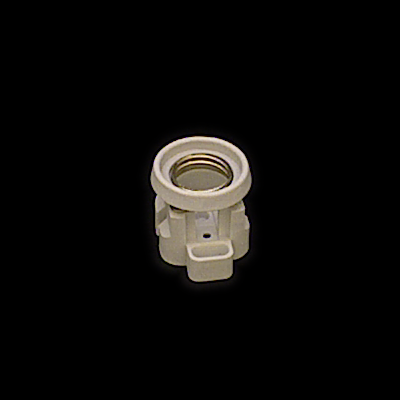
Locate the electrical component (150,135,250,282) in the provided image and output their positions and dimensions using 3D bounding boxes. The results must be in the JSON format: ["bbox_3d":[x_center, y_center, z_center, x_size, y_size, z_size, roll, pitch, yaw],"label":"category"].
[{"bbox_3d":[0.000,0.000,0.632,0.058,0.057,0.077,-6,43,-7],"label":"electrical component"}]
